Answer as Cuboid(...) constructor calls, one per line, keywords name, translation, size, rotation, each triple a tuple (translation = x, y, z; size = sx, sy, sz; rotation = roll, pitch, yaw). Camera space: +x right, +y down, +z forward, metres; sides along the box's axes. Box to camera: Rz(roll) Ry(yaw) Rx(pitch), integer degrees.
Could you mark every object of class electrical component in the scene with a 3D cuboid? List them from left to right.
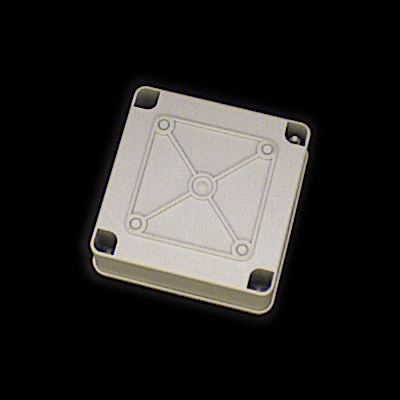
Cuboid(name="electrical component", translation=(0.000, 0.000, 0.629), size=(0.109, 0.109, 0.056), rotation=(14, -17, 4))
